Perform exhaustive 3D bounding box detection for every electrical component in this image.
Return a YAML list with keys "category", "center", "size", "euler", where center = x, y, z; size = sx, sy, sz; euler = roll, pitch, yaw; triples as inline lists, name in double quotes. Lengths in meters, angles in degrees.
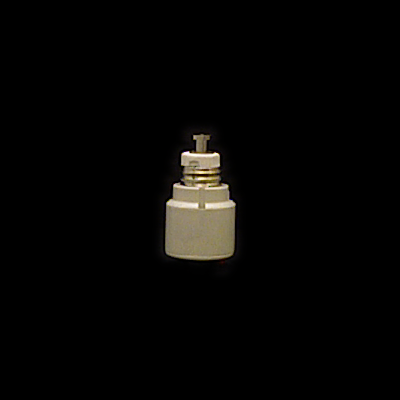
- category: "electrical component"
  center: [0.000, 0.000, 0.641]
  size: [0.040, 0.079, 0.040]
  euler: [1, 10, 0]
